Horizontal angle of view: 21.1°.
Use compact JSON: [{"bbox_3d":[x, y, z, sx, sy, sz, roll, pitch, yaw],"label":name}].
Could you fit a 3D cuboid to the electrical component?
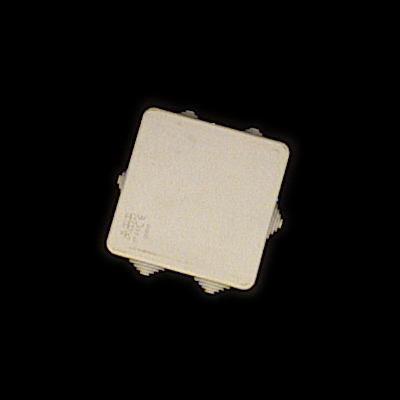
[{"bbox_3d":[0.000,0.000,0.642,0.100,0.100,0.048,16,-6,2],"label":"electrical component"}]
